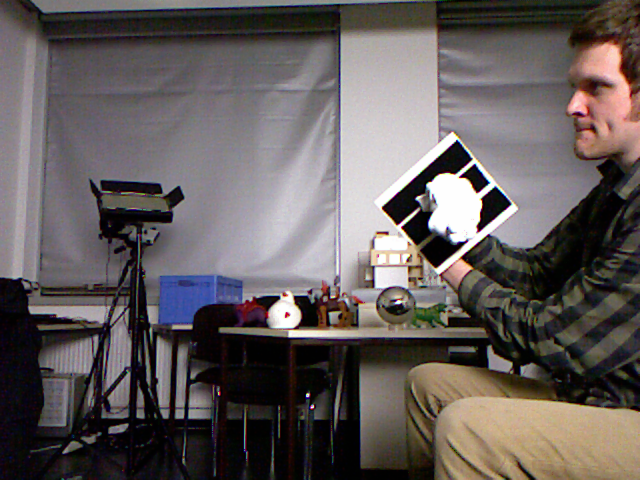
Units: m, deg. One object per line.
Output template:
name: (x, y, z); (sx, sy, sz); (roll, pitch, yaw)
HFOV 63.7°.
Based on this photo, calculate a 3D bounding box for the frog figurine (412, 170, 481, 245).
frog figurine: (0.254, -0.062, 0.978); (0.123, 0.137, 0.162); (-21, 13, 2)
